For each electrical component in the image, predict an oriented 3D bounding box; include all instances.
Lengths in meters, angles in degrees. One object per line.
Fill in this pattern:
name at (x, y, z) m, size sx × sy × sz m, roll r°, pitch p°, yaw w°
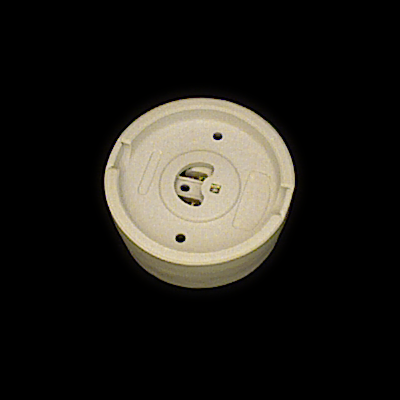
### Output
electrical component at (0.000, 0.000, 0.634) m, size 0.108 × 0.108 × 0.060 m, roll 0°, pitch -27°, yaw 0°
